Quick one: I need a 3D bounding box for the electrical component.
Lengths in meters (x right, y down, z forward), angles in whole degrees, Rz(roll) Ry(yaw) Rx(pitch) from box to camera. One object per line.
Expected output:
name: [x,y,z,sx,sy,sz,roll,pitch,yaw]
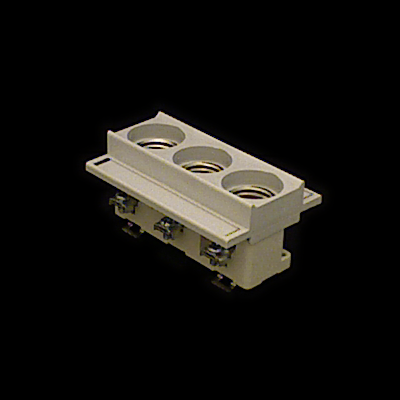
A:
electrical component: [0.000,0.000,0.648,0.078,0.064,0.120,-26,40,-37]
